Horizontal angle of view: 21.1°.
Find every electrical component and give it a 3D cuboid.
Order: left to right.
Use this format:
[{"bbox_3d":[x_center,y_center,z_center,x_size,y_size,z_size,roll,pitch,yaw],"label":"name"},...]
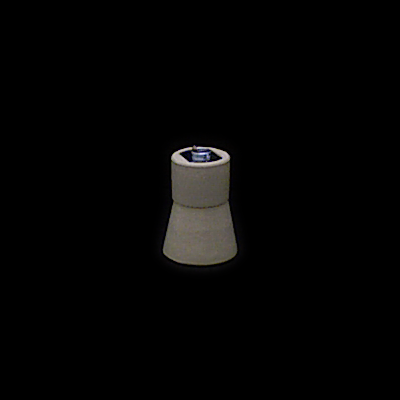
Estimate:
[{"bbox_3d":[0.000,0.000,0.638,0.044,0.066,0.044,0,22,0],"label":"electrical component"}]
